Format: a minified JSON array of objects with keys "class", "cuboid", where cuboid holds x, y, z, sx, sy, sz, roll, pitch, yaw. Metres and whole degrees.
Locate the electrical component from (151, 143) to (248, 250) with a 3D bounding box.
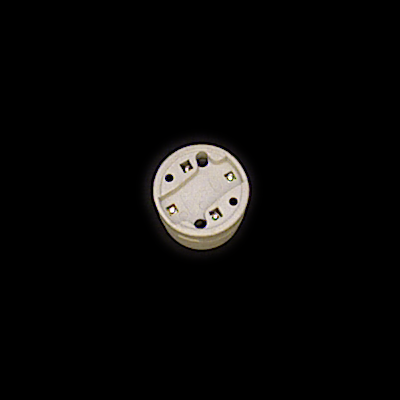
[{"class":"electrical component","cuboid":[0.000,0.000,0.634,0.055,0.056,0.047,0,-17,0]}]
